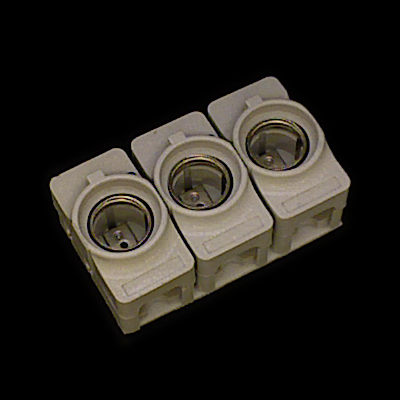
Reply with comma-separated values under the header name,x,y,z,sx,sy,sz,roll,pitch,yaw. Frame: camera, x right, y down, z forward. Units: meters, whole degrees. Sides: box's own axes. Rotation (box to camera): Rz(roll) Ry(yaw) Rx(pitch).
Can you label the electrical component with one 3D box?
name,x,y,z,sx,sy,sz,roll,pitch,yaw
electrical component,0.000,0.000,0.632,0.150,0.089,0.062,-26,-25,-13
